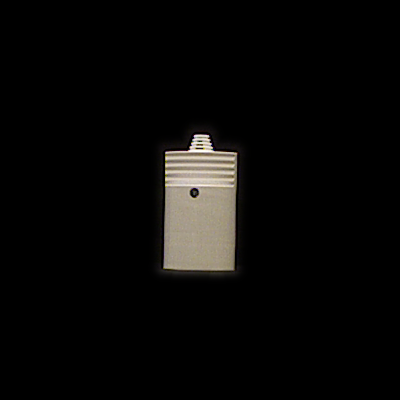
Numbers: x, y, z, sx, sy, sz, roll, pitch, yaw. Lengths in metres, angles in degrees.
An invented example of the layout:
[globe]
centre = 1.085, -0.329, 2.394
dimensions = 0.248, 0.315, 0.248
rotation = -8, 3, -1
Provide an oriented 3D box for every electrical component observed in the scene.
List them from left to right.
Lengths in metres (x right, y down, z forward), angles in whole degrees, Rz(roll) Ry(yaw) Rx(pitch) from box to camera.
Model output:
[electrical component]
centre = 0.000, 0.000, 0.650
dimensions = 0.043, 0.081, 0.043
rotation = 1, 1, 0
